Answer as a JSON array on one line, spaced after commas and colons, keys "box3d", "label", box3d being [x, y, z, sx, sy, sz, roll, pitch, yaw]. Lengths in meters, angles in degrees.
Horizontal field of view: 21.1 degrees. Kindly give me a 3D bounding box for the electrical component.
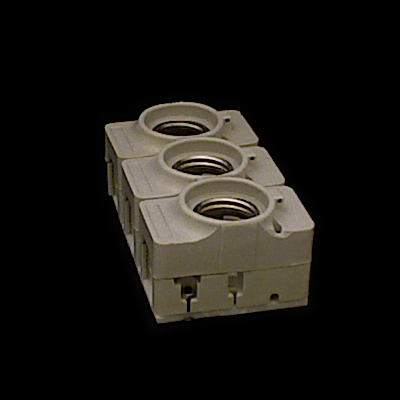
[{"box3d": [0.000, 0.000, 0.641, 0.089, 0.063, 0.146, -7, 32, -13], "label": "electrical component"}]
